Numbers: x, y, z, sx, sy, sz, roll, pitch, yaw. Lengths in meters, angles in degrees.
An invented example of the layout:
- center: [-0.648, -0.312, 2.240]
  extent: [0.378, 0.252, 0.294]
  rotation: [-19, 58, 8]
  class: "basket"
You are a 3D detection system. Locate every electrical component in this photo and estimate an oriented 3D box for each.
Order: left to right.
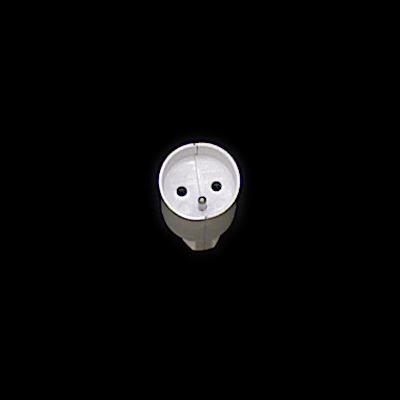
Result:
- center: [0.000, 0.000, 0.615]
  extent: [0.043, 0.043, 0.080]
  rotation: [0, -16, 0]
  class: "electrical component"
